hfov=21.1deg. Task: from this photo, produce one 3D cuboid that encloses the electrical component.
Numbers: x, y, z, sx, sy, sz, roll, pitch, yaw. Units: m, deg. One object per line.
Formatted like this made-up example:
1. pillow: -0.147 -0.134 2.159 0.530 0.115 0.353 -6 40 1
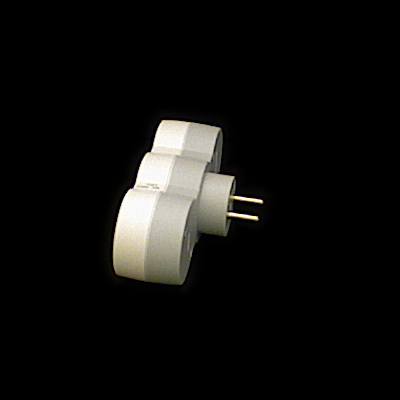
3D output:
1. electrical component: 0.000 0.000 0.642 0.073 0.053 0.137 8 33 8
